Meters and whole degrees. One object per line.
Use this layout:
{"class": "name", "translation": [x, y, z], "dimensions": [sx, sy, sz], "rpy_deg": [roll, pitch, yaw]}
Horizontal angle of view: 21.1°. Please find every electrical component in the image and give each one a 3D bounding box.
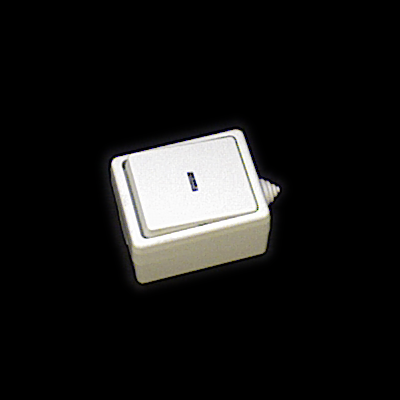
{"class": "electrical component", "translation": [0.000, 0.000, 0.626], "dimensions": [0.096, 0.062, 0.061], "rpy_deg": [-14, -26, -7]}
